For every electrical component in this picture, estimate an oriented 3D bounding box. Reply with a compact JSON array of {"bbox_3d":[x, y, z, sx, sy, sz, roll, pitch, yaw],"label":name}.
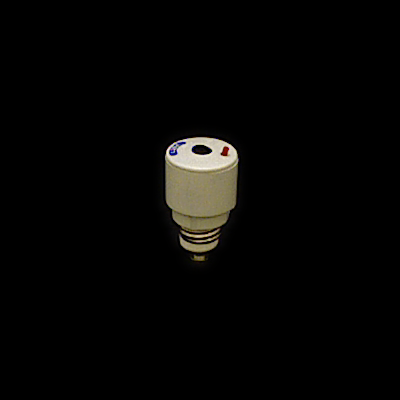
[{"bbox_3d":[0.000,0.000,0.628,0.040,0.079,0.039,1,31,-1],"label":"electrical component"}]
